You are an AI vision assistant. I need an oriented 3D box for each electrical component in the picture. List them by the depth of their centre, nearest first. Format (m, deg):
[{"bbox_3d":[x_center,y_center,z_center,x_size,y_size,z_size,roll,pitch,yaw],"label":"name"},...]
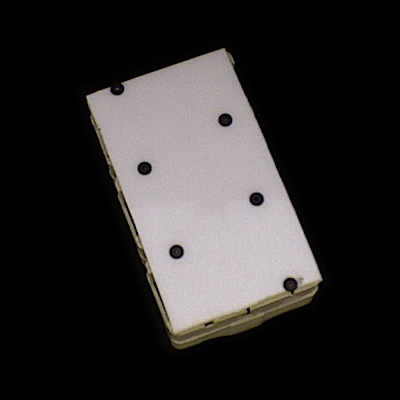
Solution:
[{"bbox_3d":[0.000,0.000,0.631,0.090,0.149,0.062,-19,-16,-6],"label":"electrical component"}]
